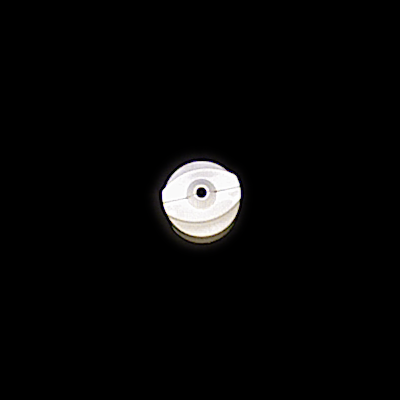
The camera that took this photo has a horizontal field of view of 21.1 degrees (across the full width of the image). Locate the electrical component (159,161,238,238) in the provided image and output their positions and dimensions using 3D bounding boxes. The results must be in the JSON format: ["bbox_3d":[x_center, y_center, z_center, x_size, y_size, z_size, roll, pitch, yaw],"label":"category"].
[{"bbox_3d":[0.000,0.000,0.616,0.043,0.043,0.080,0,-6,1],"label":"electrical component"}]
